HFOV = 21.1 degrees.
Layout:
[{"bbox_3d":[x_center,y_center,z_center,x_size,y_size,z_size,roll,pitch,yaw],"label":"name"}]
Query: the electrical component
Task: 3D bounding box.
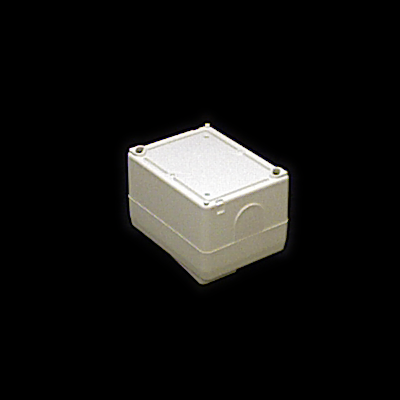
[{"bbox_3d":[0.000,0.000,0.638,0.062,0.062,0.095,-21,38,-31],"label":"electrical component"}]
